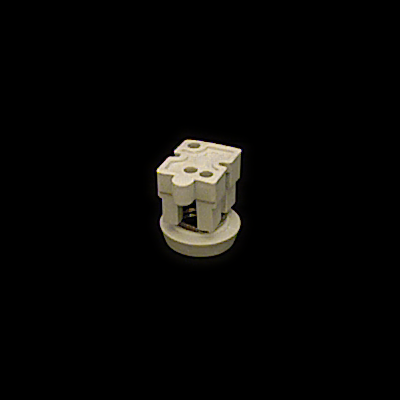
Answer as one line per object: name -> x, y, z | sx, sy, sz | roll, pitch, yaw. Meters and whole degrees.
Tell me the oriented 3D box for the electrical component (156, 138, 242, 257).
electrical component -> 0.000, 0.000, 0.642 | 0.048, 0.056, 0.066 | 12, 33, 19
